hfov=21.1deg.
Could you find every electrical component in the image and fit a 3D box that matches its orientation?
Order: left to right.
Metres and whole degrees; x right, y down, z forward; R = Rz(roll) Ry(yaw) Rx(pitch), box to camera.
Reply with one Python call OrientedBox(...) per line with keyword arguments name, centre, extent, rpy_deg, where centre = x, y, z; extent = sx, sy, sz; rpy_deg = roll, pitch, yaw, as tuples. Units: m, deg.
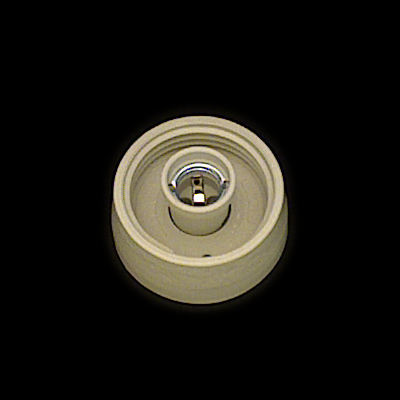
OrientedBox(name="electrical component", centre=(0.000, 0.000, 0.633), extent=(0.108, 0.108, 0.060), rpy_deg=(0, -26, 0))
